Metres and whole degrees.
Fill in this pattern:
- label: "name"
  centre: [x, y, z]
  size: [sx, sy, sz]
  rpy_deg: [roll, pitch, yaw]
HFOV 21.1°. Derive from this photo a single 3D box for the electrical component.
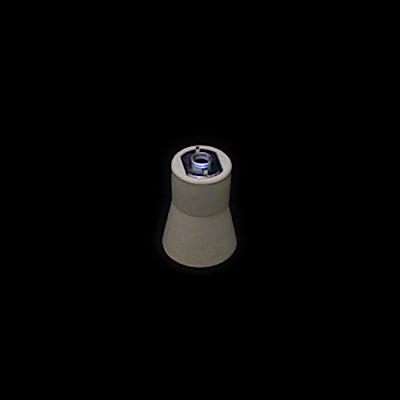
- label: "electrical component"
  centre: [0.000, 0.000, 0.629]
  size: [0.044, 0.066, 0.044]
  rpy_deg: [1, 41, -1]
